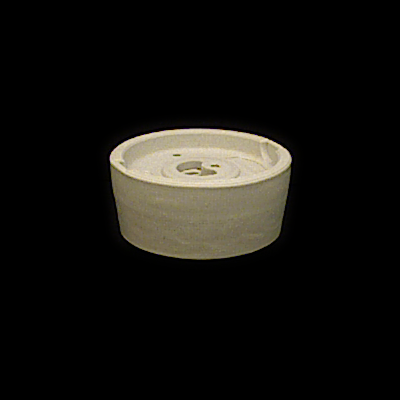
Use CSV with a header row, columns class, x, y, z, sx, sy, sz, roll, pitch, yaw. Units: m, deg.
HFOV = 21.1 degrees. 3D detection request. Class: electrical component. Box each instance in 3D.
class,x,y,z,sx,sy,sz,roll,pitch,yaw
electrical component,0.000,0.000,0.649,0.108,0.061,0.106,1,21,0
